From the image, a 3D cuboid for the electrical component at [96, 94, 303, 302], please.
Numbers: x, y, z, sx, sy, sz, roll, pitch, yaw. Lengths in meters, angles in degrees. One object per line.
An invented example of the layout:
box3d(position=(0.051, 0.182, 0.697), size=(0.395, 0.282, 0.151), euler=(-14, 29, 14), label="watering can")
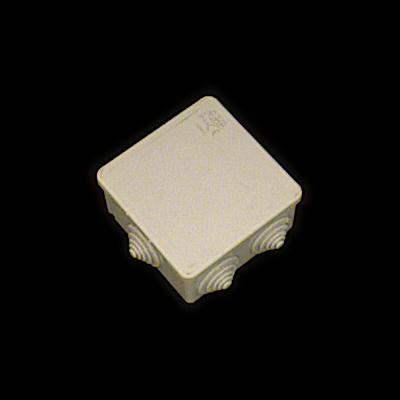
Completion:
box3d(position=(0.000, 0.000, 0.640), size=(0.100, 0.099, 0.048), euler=(-36, -21, -17), label="electrical component")
